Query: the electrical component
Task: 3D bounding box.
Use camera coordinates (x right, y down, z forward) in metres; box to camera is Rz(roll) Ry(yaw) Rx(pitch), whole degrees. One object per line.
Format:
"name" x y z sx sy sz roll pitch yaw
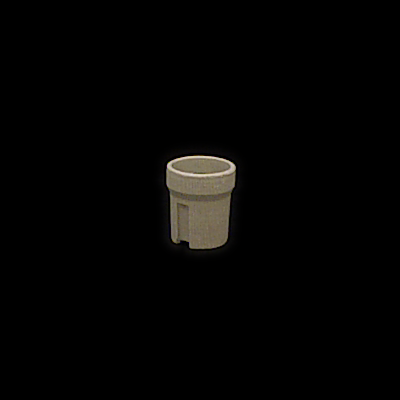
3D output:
"electrical component" 0.000 0.000 0.641 0.040 0.047 0.039 1 21 0
